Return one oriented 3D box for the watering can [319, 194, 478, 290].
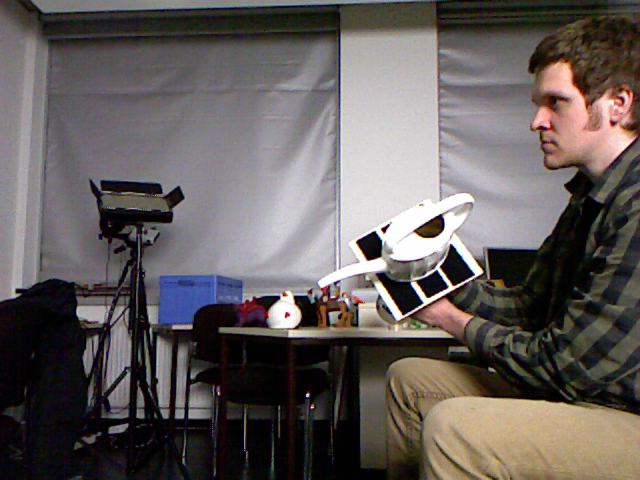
[{"bbox_3d":[0.156,0.024,1.008,0.350,0.106,0.221,-30,-25,-7],"label":"watering can"}]
